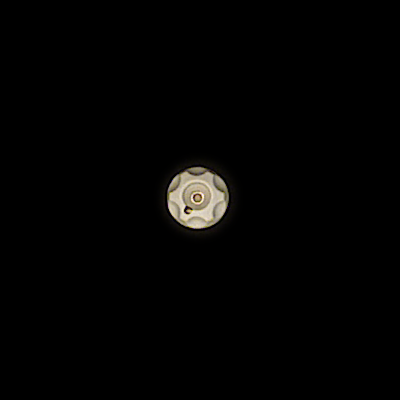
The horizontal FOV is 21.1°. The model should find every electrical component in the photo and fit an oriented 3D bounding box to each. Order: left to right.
[{"bbox_3d":[0.000,0.000,0.635,0.035,0.035,0.061,0,-5,1],"label":"electrical component"}]
